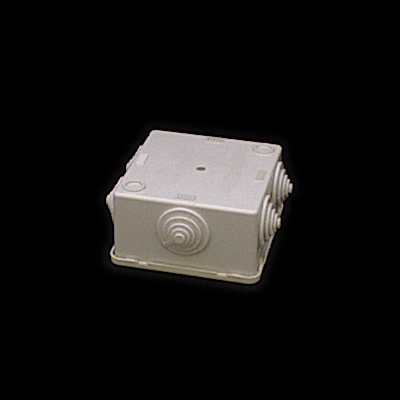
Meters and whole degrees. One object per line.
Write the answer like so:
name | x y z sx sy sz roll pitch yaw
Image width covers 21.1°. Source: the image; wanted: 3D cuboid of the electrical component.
electrical component | 0.000 0.000 0.638 0.099 0.049 0.099 8 32 11
